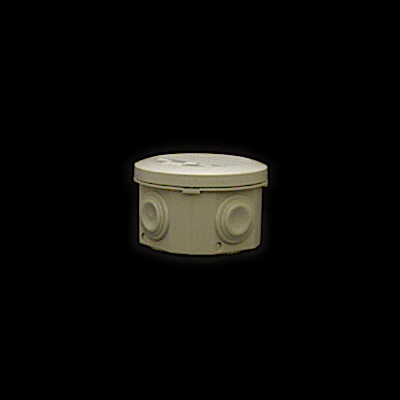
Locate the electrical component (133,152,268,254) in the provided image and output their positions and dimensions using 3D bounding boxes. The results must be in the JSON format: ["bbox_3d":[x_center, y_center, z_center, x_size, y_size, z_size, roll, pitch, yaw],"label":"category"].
[{"bbox_3d":[0.000,0.000,0.646,0.080,0.051,0.079,1,10,0],"label":"electrical component"}]
